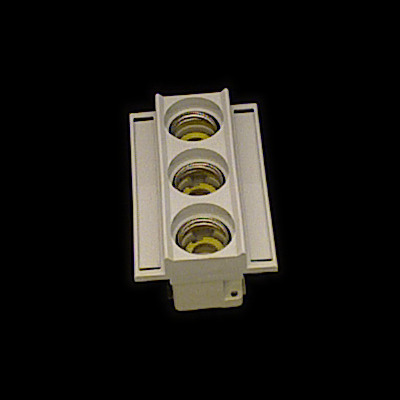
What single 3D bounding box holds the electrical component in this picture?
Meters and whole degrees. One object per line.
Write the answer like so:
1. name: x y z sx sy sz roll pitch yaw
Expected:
1. electrical component: 0.000 0.000 0.638 0.079 0.120 0.063 -4 -37 -1
